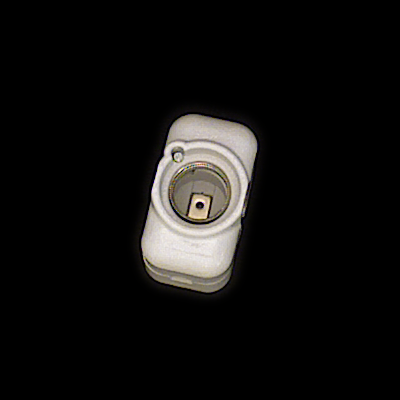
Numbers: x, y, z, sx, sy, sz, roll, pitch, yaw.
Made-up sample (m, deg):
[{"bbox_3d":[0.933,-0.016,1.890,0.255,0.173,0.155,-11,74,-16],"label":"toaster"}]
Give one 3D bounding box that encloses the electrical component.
[{"bbox_3d":[0.000,0.000,0.634,0.053,0.095,0.059,12,-16,3],"label":"electrical component"}]
